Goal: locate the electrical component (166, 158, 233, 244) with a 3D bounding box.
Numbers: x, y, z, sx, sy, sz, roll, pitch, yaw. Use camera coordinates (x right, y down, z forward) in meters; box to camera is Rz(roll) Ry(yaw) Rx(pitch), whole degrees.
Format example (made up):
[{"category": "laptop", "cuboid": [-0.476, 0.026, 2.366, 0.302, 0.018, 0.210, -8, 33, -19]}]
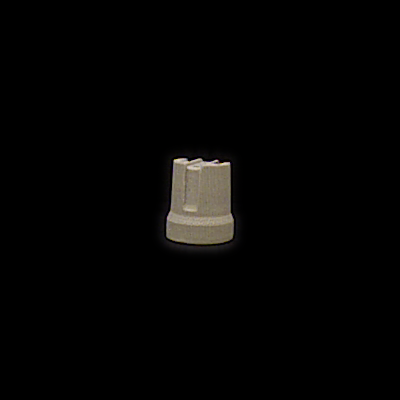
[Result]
[{"category": "electrical component", "cuboid": [0.000, 0.000, 0.646, 0.040, 0.046, 0.040, 2, 12, 0]}]
